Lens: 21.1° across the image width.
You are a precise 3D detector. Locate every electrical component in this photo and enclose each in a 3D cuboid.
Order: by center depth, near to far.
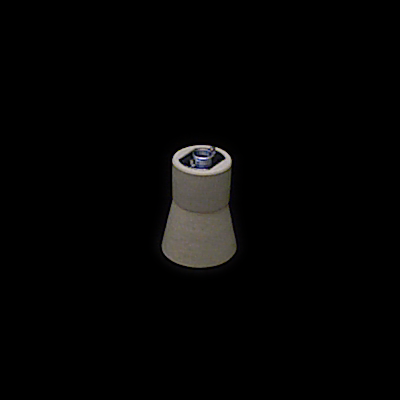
[{"bbox_3d":[0.000,0.000,0.632,0.044,0.066,0.044,2,32,-1],"label":"electrical component"}]
